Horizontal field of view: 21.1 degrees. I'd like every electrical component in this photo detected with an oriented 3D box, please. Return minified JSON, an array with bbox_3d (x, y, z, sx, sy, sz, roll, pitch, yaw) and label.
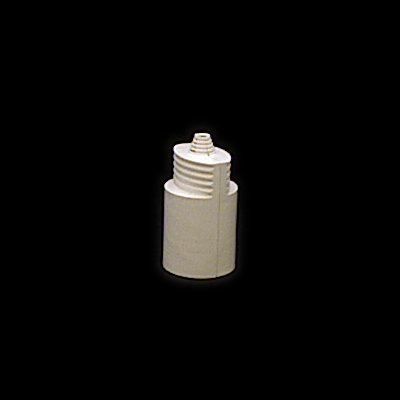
[{"bbox_3d":[0.000,0.000,0.634,0.043,0.082,0.042,1,21,0],"label":"electrical component"}]
